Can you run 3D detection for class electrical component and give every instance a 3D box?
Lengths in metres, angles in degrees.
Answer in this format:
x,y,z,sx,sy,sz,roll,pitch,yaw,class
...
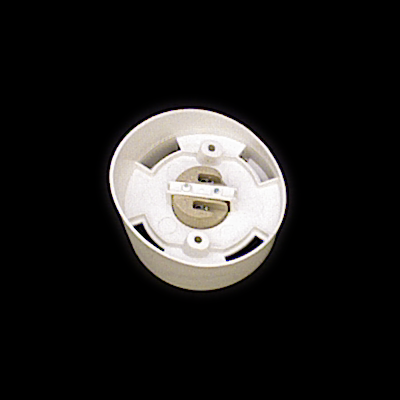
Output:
x,y,z,sx,sy,sz,roll,pitch,yaw,class
0.000,0.000,0.624,0.099,0.099,0.064,0,-27,1,electrical component
